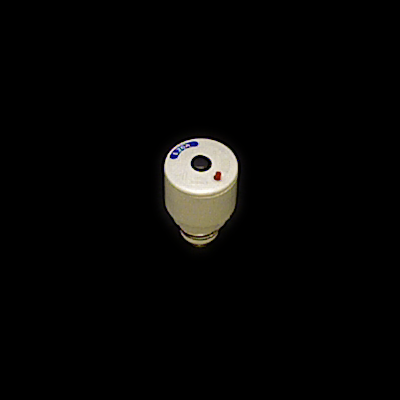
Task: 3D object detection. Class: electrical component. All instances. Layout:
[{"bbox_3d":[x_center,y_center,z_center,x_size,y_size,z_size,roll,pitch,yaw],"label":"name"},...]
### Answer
[{"bbox_3d":[0.000,0.000,0.619,0.040,0.040,0.078,0,-37,-1],"label":"electrical component"}]
